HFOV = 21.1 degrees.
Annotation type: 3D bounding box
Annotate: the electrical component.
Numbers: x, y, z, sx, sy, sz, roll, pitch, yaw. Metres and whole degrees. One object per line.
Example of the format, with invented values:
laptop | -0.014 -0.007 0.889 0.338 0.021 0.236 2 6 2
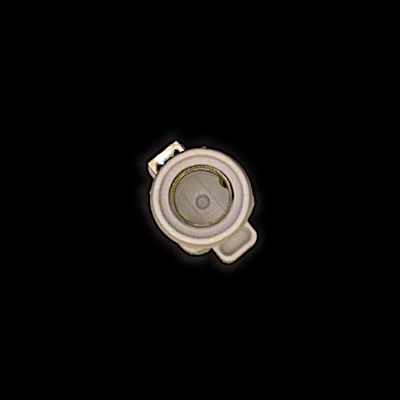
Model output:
electrical component | 0.000 0.000 0.630 0.058 0.078 0.056 -40 -5 -3
